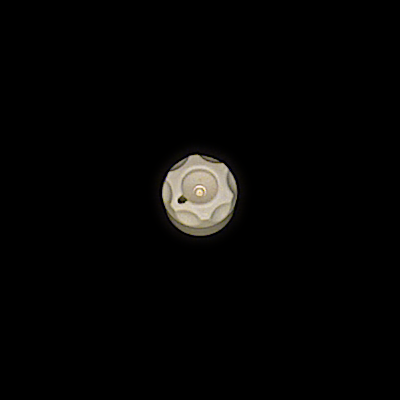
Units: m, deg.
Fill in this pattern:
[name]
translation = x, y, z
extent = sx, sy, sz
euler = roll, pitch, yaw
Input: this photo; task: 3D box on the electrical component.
[electrical component]
translation = 0.000, 0.000, 0.634
extent = 0.043, 0.043, 0.061
euler = 0, -17, 0
